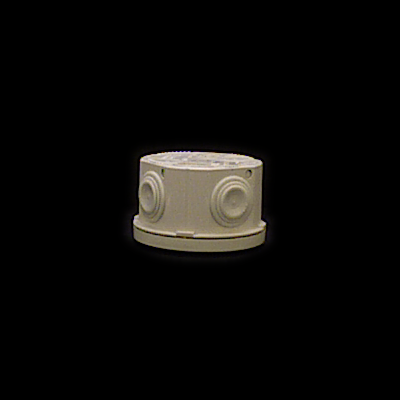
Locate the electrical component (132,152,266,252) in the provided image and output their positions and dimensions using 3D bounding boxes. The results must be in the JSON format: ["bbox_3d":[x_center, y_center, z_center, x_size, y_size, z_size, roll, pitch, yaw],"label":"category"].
[{"bbox_3d":[0.000,0.000,0.646,0.080,0.051,0.079,2,10,0],"label":"electrical component"}]
